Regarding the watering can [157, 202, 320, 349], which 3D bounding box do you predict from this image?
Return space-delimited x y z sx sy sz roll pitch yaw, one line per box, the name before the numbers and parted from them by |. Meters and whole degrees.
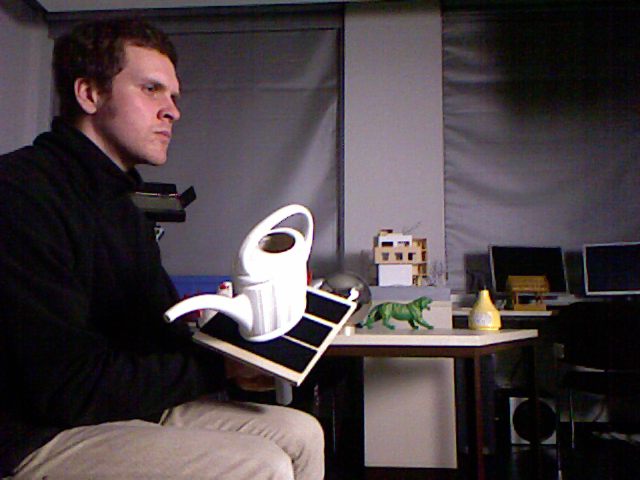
watering can | -0.104 0.078 0.797 0.105 0.220 0.355 21 41 26
